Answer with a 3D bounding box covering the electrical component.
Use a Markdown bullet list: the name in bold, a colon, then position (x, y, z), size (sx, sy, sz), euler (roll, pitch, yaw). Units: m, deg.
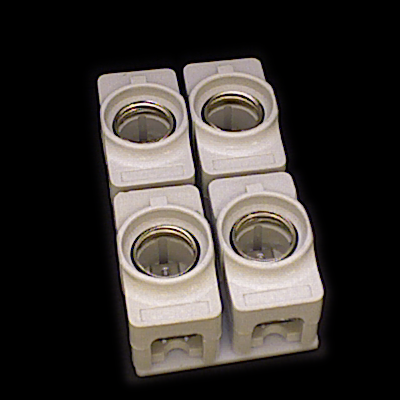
- **electrical component**: position (0.000, 0.000, 0.627), size (0.106, 0.185, 0.060), euler (-7, -37, -6)
